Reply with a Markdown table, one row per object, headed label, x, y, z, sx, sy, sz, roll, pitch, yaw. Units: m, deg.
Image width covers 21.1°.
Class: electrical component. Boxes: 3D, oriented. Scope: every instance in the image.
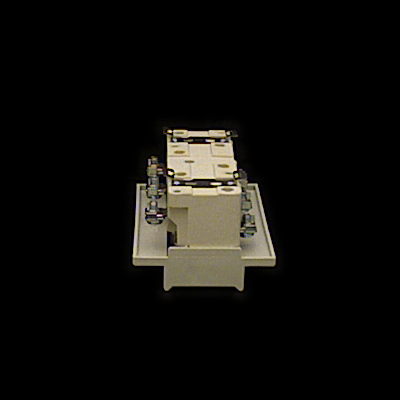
| label | x | y | z | sx | sy | sz | roll | pitch | yaw |
| --- | --- | --- | --- | --- | --- | --- | --- | --- | --- |
| electrical component | 0.000 | 0.000 | 0.647 | 0.079 | 0.064 | 0.119 | 1 | 22 | -3 |
